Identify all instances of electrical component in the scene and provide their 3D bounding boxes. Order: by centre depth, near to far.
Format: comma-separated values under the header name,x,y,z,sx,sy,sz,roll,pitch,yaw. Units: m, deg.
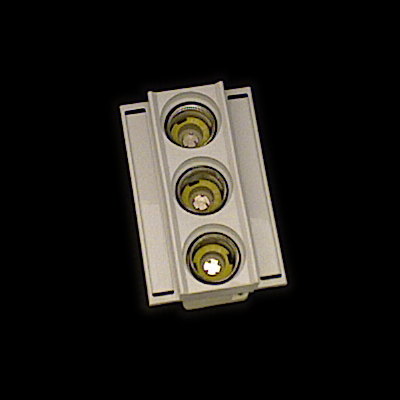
name,x,y,z,sx,sy,sz,roll,pitch,yaw
electrical component,0.000,0.000,0.637,0.079,0.121,0.063,-8,-16,-3
